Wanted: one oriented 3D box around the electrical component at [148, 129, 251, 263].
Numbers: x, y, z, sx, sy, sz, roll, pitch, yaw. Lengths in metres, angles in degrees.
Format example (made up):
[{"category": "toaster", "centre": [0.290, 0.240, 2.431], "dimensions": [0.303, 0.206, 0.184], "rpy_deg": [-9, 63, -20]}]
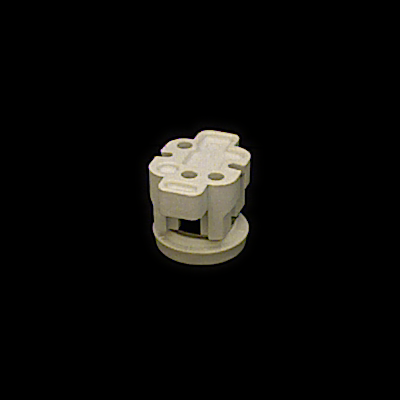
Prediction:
[{"category": "electrical component", "centre": [0.000, 0.000, 0.644], "dimensions": [0.057, 0.057, 0.078], "rpy_deg": [10, 32, 15]}]
